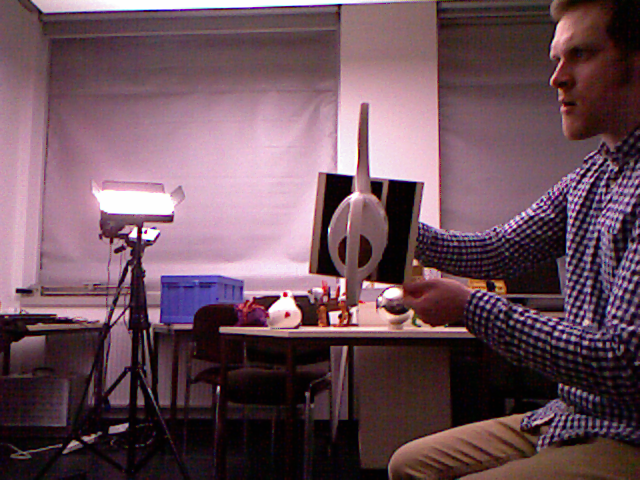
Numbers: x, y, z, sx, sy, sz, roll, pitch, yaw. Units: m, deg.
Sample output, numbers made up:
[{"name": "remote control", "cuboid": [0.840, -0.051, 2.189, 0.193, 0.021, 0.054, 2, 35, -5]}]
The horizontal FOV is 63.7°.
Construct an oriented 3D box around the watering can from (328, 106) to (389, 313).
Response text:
[{"name": "watering can", "cuboid": [0.073, -0.052, 0.906, 0.104, 0.346, 0.227, 6, 10, 6]}]
